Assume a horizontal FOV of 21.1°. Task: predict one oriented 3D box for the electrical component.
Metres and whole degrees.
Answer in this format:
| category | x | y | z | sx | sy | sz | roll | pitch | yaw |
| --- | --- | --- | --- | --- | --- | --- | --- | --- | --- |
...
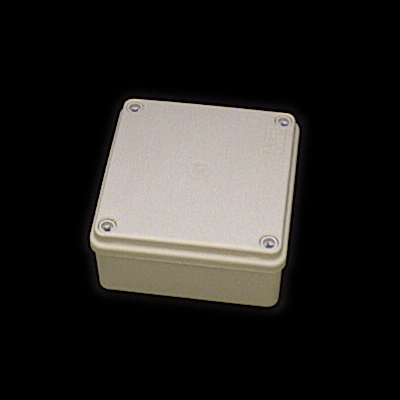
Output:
| category | x | y | z | sx | sy | sz | roll | pitch | yaw |
| --- | --- | --- | --- | --- | --- | --- | --- | --- | --- |
| electrical component | 0.000 | 0.000 | 0.630 | 0.108 | 0.108 | 0.056 | 6 | -38 | 4 |
